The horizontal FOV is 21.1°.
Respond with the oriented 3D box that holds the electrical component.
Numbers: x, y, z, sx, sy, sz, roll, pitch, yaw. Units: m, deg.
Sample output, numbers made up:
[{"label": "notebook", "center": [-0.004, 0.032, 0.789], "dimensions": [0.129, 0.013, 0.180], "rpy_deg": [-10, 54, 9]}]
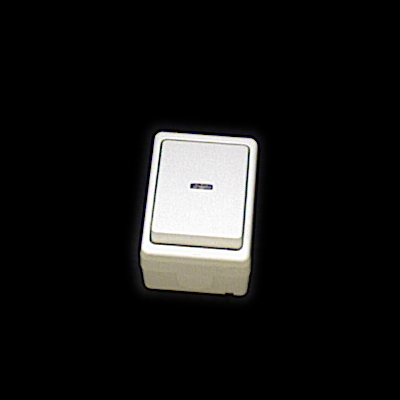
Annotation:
[{"label": "electrical component", "center": [0.000, 0.000, 0.627], "dimensions": [0.062, 0.096, 0.061], "rpy_deg": [4, -27, 2]}]
